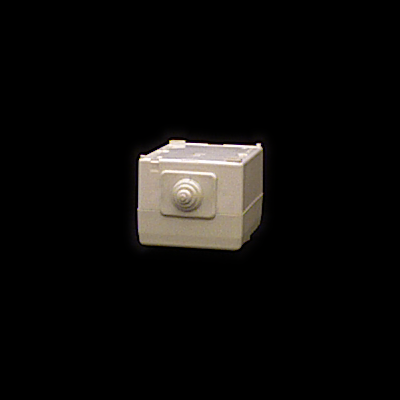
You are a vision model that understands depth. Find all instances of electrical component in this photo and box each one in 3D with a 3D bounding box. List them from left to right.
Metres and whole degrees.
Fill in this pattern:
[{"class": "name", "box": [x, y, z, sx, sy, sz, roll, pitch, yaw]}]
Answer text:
[{"class": "electrical component", "box": [0.000, 0.000, 0.644, 0.061, 0.061, 0.095, 3, 11, 11]}]
